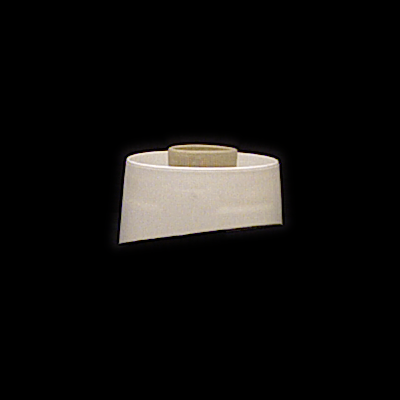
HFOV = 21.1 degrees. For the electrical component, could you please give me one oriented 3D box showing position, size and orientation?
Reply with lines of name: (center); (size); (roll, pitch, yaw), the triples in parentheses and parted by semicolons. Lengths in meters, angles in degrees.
electrical component: (0.000, 0.000, 0.644); (0.099, 0.064, 0.098); (1, 10, 0)
